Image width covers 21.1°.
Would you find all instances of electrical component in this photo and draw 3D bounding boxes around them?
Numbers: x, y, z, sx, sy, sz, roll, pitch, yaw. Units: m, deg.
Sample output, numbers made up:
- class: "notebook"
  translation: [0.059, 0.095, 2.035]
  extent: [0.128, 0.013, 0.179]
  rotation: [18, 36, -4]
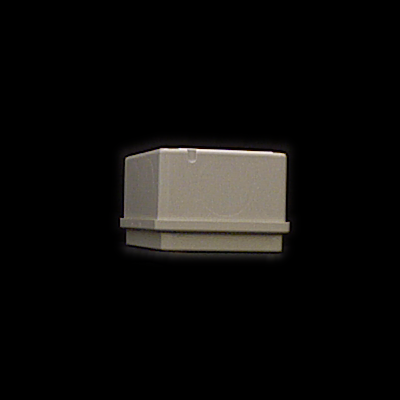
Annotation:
- class: "electrical component"
  translation: [0.000, 0.000, 0.649]
  extent: [0.078, 0.057, 0.113]
  rotation: [1, 0, -15]
